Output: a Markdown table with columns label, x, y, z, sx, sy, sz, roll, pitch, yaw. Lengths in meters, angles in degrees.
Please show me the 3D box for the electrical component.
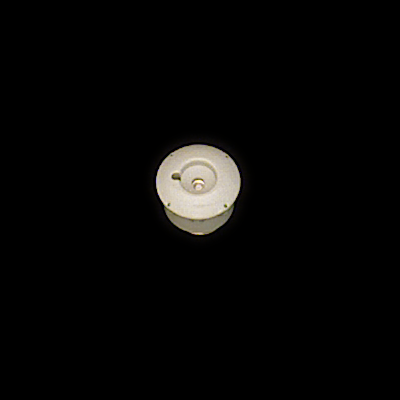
| label | x | y | z | sx | sy | sz | roll | pitch | yaw |
| --- | --- | --- | --- | --- | --- | --- | --- | --- | --- |
| electrical component | 0.000 | 0.000 | 0.632 | 0.048 | 0.048 | 0.062 | 0 | -27 | 0 |
